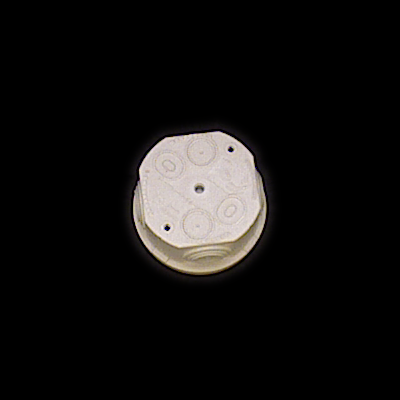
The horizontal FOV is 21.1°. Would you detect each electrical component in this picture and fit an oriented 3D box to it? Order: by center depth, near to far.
[{"bbox_3d":[0.000,0.000,0.632,0.080,0.080,0.050,0,-17,0],"label":"electrical component"}]
